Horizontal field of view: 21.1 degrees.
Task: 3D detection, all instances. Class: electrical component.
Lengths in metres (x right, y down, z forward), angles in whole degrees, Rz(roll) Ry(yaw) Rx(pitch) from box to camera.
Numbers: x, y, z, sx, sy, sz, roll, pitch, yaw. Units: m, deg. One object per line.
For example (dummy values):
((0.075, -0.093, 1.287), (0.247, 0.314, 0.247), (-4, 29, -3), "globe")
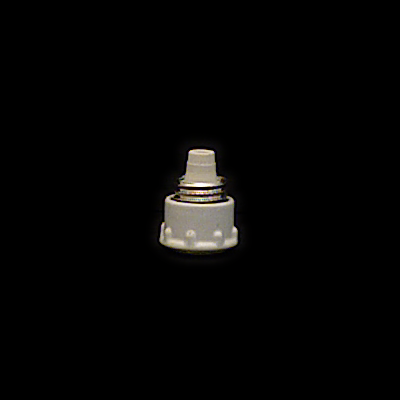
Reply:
((0.000, 0.000, 0.650), (0.048, 0.062, 0.048), (2, 13, 0), "electrical component")
